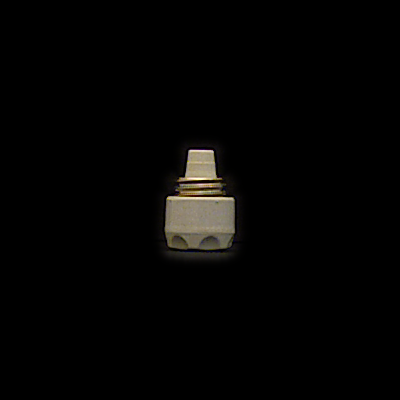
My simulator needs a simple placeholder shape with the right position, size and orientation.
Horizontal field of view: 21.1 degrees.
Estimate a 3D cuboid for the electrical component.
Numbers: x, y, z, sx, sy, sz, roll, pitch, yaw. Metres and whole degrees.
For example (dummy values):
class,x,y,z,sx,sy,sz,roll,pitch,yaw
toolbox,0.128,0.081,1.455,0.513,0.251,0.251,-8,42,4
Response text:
class,x,y,z,sx,sy,sz,roll,pitch,yaw
electrical component,0.000,0.000,0.655,0.043,0.062,0.043,1,3,1
